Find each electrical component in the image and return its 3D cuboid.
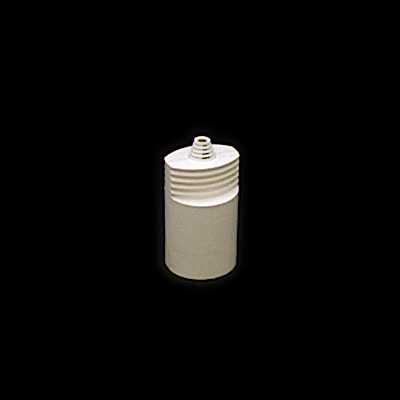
[{"bbox_3d":[0.000,0.000,0.629,0.043,0.082,0.042,1,31,0],"label":"electrical component"}]
